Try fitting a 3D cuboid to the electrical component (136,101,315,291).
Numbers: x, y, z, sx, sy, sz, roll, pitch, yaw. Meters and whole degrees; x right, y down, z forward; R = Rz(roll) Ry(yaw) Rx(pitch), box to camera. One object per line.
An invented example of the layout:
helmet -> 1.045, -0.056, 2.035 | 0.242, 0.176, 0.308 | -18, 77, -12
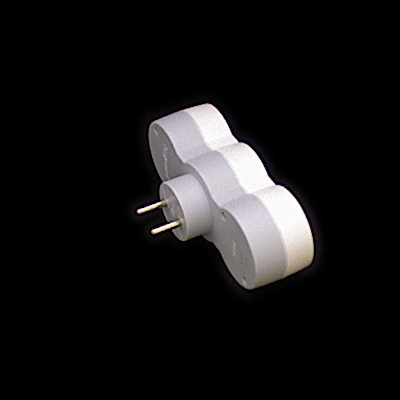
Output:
electrical component -> 0.000, 0.000, 0.632 | 0.074, 0.052, 0.137 | -21, 47, -20
